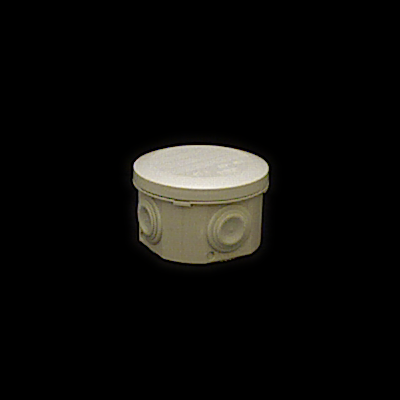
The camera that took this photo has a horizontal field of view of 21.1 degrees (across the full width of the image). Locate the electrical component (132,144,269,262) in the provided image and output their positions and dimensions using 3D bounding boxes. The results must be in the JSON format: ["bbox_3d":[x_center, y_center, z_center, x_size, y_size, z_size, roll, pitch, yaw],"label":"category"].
[{"bbox_3d":[0.000,0.000,0.638,0.080,0.051,0.079,1,21,0],"label":"electrical component"}]
